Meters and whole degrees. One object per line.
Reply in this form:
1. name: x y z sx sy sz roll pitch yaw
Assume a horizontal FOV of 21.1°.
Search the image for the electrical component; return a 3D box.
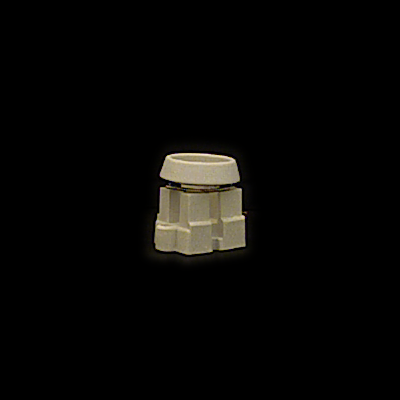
1. electrical component: 0.000 0.000 0.653 0.067 0.056 0.047 -7 16 -36
